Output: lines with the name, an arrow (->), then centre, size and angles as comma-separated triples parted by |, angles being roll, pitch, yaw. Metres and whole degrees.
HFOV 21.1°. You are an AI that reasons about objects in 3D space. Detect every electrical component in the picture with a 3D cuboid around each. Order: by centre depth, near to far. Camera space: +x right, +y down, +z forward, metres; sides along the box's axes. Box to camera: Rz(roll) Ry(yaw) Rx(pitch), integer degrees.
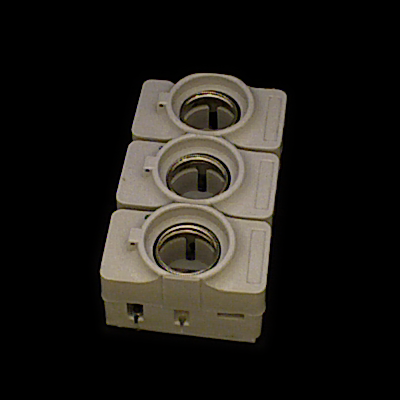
electrical component -> 0.000, 0.000, 0.633 | 0.089, 0.148, 0.062 | 6, -38, 5
